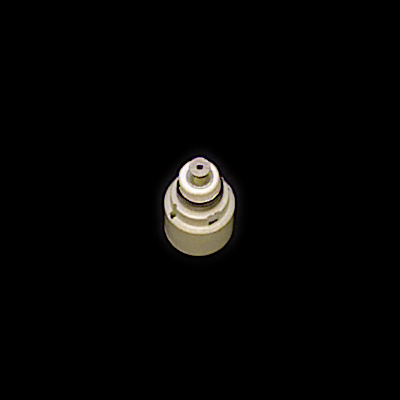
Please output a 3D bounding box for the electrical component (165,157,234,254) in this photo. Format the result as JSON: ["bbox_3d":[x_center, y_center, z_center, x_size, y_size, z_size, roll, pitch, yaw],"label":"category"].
[{"bbox_3d":[0.000,0.000,0.618,0.040,0.040,0.078,0,-28,-1],"label":"electrical component"}]
